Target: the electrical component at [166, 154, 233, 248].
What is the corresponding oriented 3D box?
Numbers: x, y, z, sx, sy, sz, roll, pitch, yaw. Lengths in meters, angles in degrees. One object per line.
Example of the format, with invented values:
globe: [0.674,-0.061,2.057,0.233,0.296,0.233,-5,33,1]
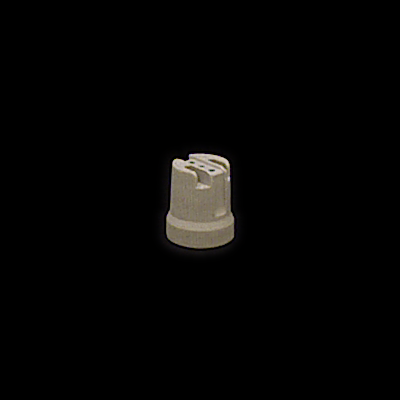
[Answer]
electrical component: [0.000,0.000,0.640,0.040,0.046,0.040,0,21,0]
